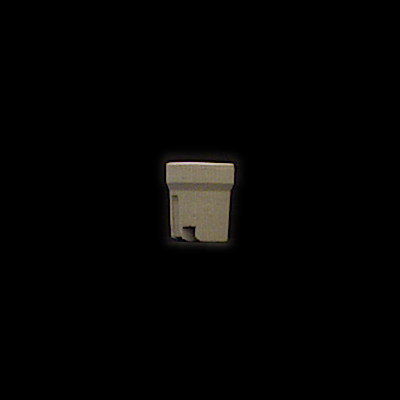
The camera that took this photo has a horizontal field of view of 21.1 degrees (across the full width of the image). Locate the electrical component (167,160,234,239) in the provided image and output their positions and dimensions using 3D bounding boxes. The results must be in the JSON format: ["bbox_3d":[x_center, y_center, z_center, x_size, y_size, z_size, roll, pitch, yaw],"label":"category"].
[{"bbox_3d":[0.000,0.000,0.648,0.040,0.046,0.040,1,1,1],"label":"electrical component"}]
